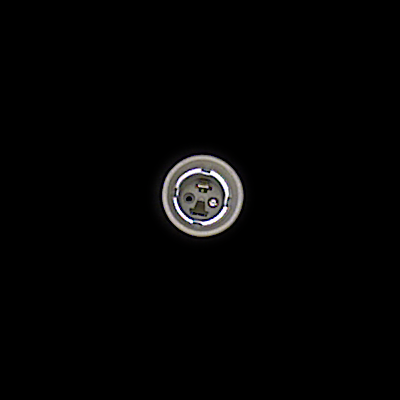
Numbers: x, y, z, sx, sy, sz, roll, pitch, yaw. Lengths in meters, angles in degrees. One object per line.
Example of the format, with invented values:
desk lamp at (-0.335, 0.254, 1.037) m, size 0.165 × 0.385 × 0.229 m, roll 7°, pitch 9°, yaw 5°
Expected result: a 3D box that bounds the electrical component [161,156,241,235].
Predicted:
electrical component at (0.000, 0.000, 0.625) m, size 0.044 × 0.044 × 0.065 m, roll 0°, pitch -6°, yaw -1°
